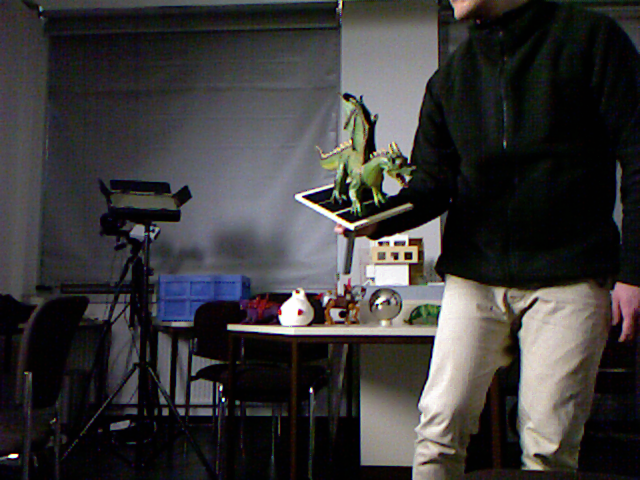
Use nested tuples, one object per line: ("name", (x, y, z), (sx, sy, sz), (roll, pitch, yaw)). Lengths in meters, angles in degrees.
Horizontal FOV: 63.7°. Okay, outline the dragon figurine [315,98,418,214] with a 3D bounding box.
("dragon figurine", (0.081, -0.213, 1.196), (0.123, 0.238, 0.418), (-16, 37, -25))
